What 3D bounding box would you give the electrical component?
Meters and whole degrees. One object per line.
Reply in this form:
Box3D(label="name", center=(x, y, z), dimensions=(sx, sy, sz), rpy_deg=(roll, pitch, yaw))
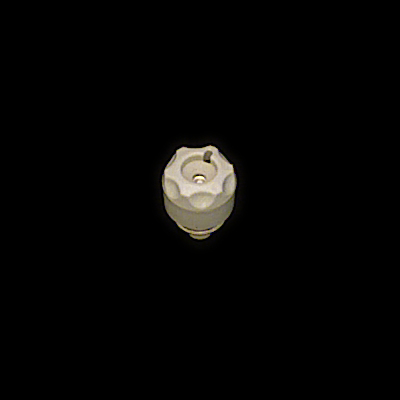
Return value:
Box3D(label="electrical component", center=(0.000, 0.000, 0.635), dimensions=(0.043, 0.043, 0.062), rpy_deg=(0, -36, 0))
